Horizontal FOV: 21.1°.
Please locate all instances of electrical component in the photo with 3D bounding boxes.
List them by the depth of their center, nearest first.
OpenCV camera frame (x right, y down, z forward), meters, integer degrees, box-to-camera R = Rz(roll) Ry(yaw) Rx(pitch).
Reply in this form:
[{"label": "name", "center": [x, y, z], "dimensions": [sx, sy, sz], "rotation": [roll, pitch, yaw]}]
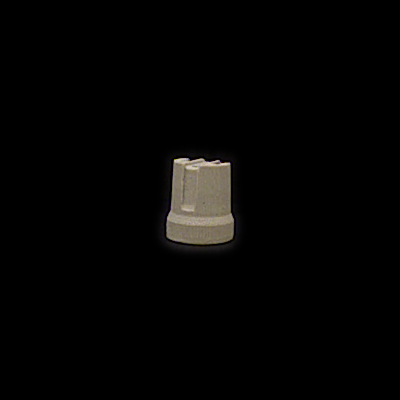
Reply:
[{"label": "electrical component", "center": [0.000, 0.000, 0.646], "dimensions": [0.040, 0.046, 0.040], "rotation": [1, 12, 0]}]
